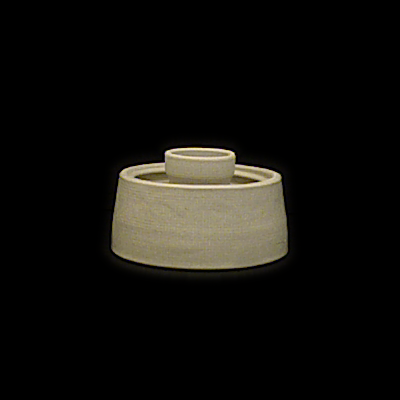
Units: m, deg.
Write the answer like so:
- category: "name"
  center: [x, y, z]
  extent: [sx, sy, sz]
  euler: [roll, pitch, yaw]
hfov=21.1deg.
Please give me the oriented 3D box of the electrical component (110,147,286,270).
- category: "electrical component"
  center: [0.000, 0.000, 0.651]
  extent: [0.108, 0.061, 0.107]
  euler: [1, 11, 0]
